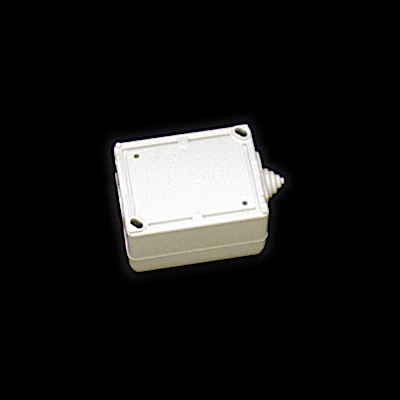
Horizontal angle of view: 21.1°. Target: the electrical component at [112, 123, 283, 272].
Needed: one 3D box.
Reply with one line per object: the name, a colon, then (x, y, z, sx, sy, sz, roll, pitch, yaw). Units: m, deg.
electrical component: (0.000, 0.000, 0.628, 0.096, 0.062, 0.061, -9, -28, -4)
